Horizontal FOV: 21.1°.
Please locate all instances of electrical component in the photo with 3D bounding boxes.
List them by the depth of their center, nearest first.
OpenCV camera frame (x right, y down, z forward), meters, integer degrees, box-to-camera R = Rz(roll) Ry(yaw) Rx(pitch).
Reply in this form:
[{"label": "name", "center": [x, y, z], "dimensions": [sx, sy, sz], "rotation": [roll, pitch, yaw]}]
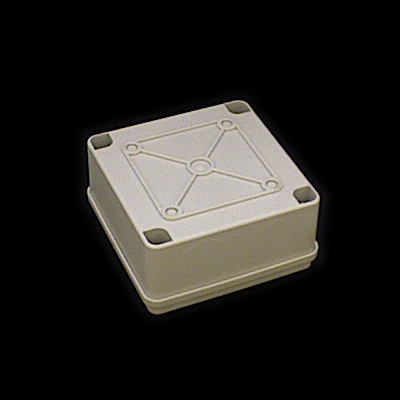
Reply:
[{"label": "electrical component", "center": [0.000, 0.000, 0.632], "dimensions": [0.109, 0.057, 0.107], "rotation": [-16, 45, -18]}]
